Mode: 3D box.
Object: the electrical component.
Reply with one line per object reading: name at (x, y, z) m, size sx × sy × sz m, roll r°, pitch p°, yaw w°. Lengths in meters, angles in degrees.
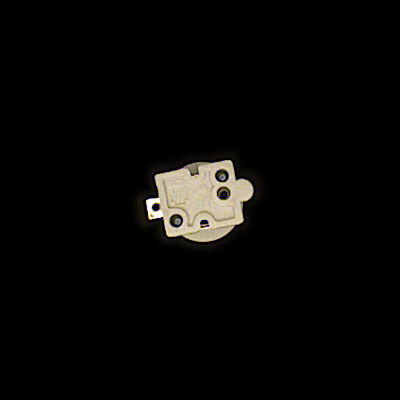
electrical component at (0.000, 0.000, 0.639) m, size 0.066 × 0.048 × 0.055 m, roll -11°, pitch -4°, yaw 0°
